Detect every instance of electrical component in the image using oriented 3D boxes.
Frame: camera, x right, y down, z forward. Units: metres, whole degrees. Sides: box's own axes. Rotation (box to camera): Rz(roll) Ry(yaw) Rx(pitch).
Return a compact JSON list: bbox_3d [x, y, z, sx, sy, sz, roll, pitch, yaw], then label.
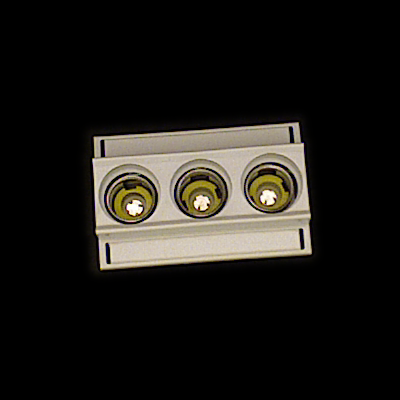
[{"bbox_3d":[0.000,0.000,0.637,0.121,0.079,0.063,-4,-15,0],"label":"electrical component"}]
